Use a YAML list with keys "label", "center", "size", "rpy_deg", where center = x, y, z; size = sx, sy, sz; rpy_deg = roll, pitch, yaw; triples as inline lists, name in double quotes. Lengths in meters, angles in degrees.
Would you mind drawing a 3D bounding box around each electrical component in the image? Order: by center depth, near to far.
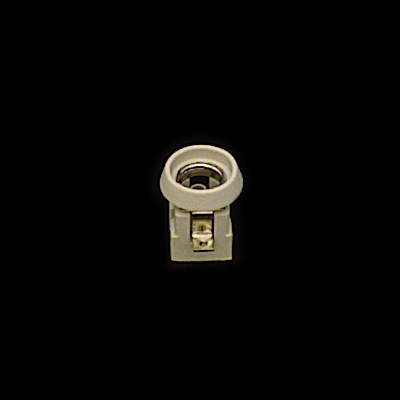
- label: "electrical component"
  center: [0.000, 0.000, 0.639]
  size: [0.048, 0.056, 0.066]
  rpy_deg: [-4, 43, -2]
